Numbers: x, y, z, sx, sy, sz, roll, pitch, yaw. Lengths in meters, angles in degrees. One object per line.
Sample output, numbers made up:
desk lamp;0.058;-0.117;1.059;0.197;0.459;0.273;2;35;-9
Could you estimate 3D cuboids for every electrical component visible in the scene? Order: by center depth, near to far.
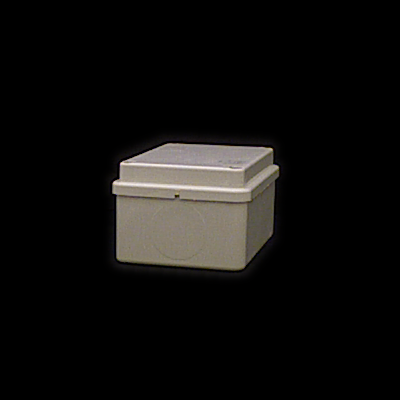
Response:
electrical component;0.000;0.000;0.644;0.078;0.057;0.112;4;10;12
